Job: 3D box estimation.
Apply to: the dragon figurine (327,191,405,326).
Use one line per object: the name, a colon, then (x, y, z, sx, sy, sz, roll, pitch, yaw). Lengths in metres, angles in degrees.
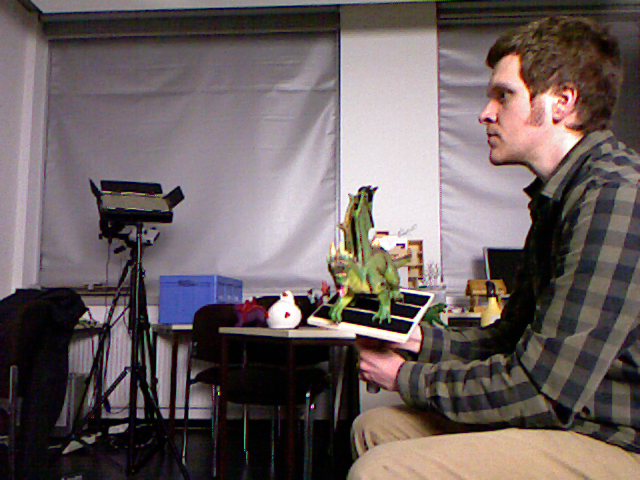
dragon figurine: (0.103, 0.021, 1.024, 0.122, 0.239, 0.417, 6, 24, 21)
